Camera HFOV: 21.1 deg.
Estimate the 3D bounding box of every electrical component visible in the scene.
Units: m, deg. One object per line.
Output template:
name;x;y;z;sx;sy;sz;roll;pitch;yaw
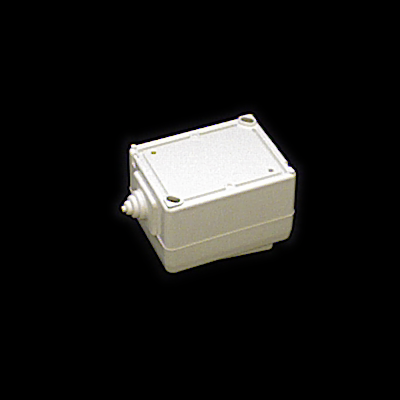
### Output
electrical component;0.000;0.000;0.627;0.096;0.061;0.061;-16;45;-18
